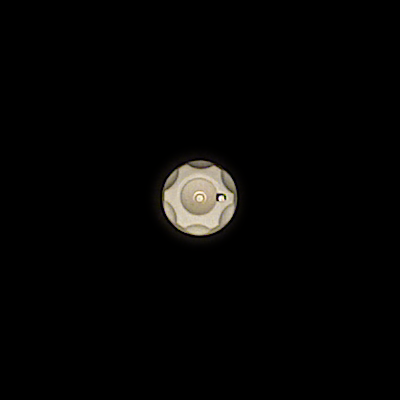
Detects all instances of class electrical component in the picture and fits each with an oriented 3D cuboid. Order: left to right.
[{"bbox_3d":[0.000,0.000,0.635,0.043,0.043,0.062,0,-5,2],"label":"electrical component"}]
